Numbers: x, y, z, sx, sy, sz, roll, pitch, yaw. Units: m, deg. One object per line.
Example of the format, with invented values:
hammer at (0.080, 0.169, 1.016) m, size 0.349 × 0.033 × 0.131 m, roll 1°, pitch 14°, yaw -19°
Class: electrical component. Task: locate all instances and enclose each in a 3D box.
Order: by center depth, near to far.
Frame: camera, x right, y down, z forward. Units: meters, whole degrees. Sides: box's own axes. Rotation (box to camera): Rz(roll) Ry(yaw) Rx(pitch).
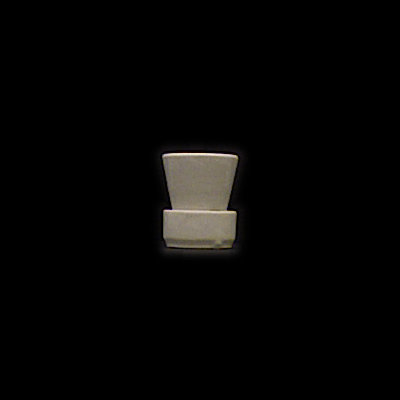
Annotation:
electrical component at (0.000, 0.000, 0.648) m, size 0.045 × 0.055 × 0.045 m, roll 0°, pitch 1°, yaw 0°
